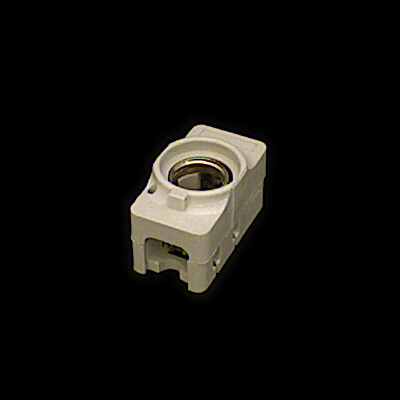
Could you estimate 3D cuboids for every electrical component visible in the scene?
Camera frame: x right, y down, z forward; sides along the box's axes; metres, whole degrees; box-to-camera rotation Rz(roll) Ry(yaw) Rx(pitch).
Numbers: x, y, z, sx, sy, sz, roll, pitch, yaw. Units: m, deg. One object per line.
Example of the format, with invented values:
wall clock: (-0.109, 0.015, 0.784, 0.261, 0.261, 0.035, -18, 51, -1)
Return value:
electrical component: (0.000, 0.000, 0.639, 0.050, 0.056, 0.089, 18, 45, 18)
